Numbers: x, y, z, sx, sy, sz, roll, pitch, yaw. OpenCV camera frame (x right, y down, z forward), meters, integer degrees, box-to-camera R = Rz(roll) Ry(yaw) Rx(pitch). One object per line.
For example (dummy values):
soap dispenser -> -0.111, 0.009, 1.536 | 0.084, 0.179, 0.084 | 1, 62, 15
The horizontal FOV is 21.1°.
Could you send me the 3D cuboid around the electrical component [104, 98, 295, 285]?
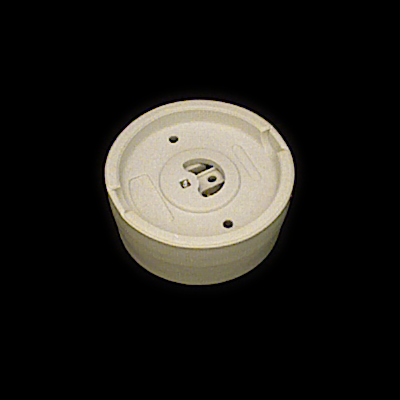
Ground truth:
electrical component -> 0.000, 0.000, 0.633 | 0.108, 0.107, 0.060 | 0, -37, -1
